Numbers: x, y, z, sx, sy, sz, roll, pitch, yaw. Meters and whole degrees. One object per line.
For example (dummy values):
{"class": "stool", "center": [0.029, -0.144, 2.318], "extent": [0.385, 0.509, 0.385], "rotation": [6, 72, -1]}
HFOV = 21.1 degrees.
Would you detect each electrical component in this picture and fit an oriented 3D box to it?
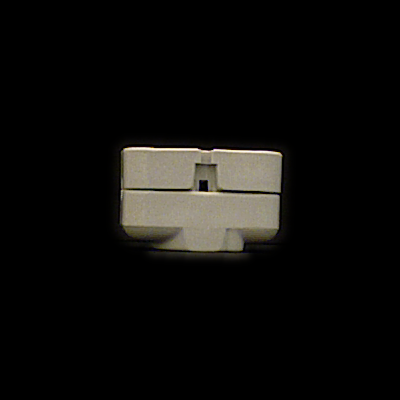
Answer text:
{"class": "electrical component", "center": [0.000, 0.000, 0.654], "extent": [0.095, 0.059, 0.053], "rotation": [2, 1, -8]}
